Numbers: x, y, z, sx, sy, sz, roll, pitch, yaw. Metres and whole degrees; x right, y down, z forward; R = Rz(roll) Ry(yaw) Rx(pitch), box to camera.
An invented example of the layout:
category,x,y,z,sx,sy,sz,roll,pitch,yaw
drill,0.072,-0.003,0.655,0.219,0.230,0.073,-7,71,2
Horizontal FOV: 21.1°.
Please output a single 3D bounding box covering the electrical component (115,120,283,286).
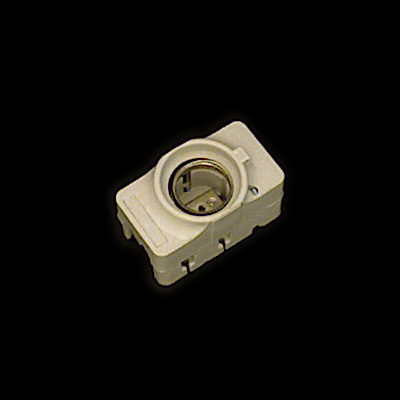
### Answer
category,x,y,z,sx,sy,sz,roll,pitch,yaw
electrical component,0.000,0.000,0.635,0.090,0.050,0.055,-32,-22,-15
